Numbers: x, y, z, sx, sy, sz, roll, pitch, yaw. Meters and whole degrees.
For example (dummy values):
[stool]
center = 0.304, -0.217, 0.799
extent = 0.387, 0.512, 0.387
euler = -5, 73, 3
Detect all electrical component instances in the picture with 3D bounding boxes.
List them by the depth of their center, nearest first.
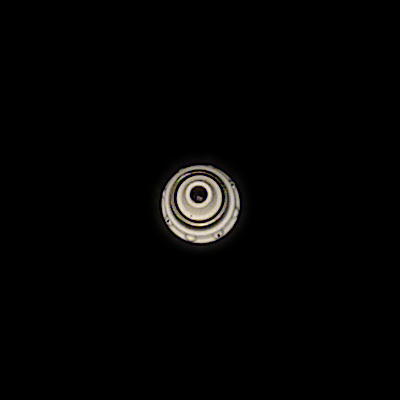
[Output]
[electrical component]
center = 0.000, 0.000, 0.635
extent = 0.048, 0.048, 0.061
euler = 0, -6, 0
